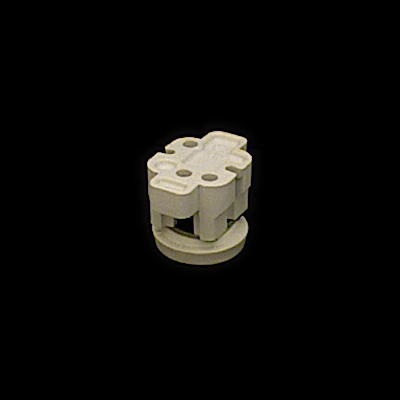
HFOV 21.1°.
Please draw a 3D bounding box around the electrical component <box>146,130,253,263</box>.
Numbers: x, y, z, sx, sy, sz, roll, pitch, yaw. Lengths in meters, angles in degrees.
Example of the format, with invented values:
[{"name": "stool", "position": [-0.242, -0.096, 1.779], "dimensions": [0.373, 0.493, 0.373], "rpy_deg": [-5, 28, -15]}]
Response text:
[{"name": "electrical component", "position": [0.000, 0.000, 0.644], "dimensions": [0.057, 0.057, 0.078], "rpy_deg": [16, 34, 23]}]
